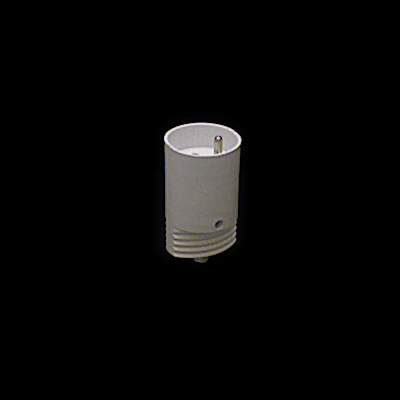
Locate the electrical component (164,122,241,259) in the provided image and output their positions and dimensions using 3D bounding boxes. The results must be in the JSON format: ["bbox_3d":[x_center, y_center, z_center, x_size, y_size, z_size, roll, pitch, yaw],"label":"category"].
[{"bbox_3d":[0.000,0.000,0.631,0.043,0.082,0.042,1,32,-1],"label":"electrical component"}]
